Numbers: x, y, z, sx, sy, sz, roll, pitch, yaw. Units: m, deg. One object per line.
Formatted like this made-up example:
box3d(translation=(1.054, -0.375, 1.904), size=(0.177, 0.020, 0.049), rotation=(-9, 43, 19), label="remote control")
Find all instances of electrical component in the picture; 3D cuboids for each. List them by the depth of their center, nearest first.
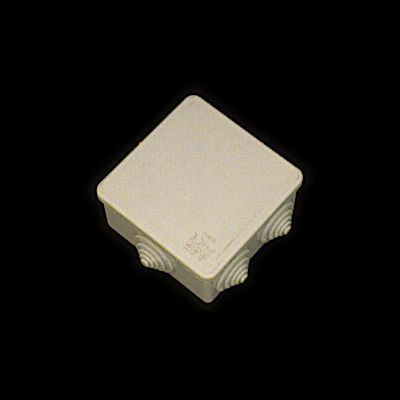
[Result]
box3d(translation=(0.000, 0.000, 0.639), size=(0.099, 0.100, 0.048), rotation=(38, -21, 17), label="electrical component")
